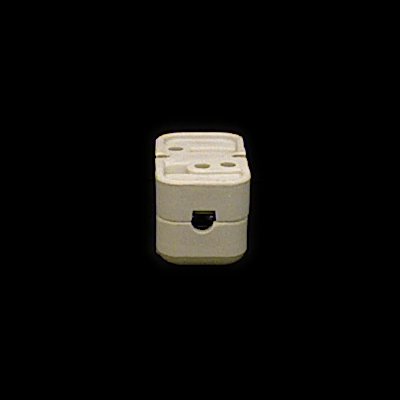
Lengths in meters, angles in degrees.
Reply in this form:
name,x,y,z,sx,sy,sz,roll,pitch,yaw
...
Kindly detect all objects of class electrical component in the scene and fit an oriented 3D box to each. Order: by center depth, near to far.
name,x,y,z,sx,sy,sz,roll,pitch,yaw
electrical component,0.000,0.000,0.647,0.054,0.060,0.094,0,21,-2
